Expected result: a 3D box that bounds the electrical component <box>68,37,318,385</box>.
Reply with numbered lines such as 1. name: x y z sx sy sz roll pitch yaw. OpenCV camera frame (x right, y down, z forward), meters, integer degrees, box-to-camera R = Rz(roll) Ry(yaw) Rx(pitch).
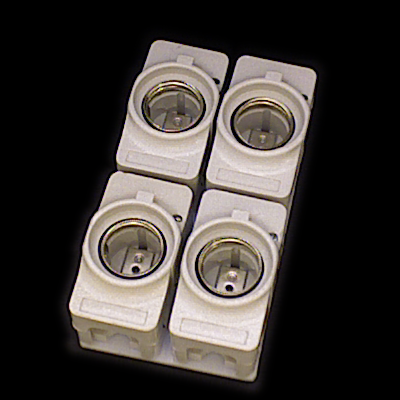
1. electrical component: 0.000 0.000 0.626 0.105 0.186 0.060 12 -27 6
